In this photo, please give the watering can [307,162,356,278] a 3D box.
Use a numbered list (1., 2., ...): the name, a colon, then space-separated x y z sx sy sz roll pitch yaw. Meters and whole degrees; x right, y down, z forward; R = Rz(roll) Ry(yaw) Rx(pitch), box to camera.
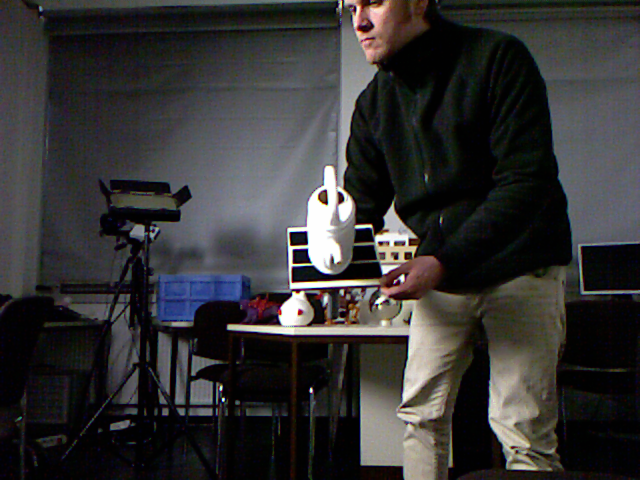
1. watering can: 0.025 -0.010 1.066 0.104 0.219 0.357 -2 41 0
